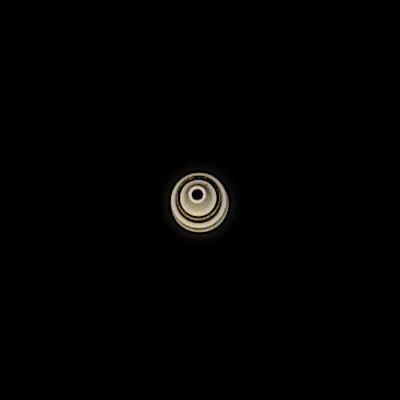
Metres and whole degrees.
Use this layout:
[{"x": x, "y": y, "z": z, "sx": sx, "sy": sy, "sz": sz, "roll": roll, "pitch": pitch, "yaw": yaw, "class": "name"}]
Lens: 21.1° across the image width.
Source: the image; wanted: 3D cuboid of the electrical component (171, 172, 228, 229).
[{"x": 0.000, "y": 0.000, "z": 0.638, "sx": 0.035, "sy": 0.035, "sz": 0.061, "roll": 0, "pitch": -7, "yaw": 1, "class": "electrical component"}]
